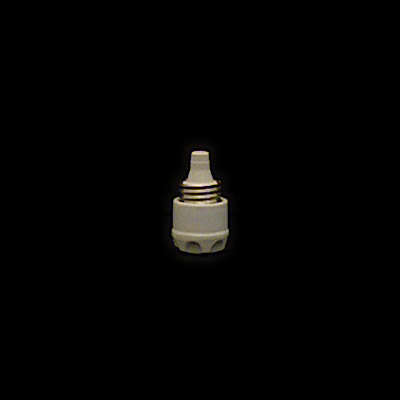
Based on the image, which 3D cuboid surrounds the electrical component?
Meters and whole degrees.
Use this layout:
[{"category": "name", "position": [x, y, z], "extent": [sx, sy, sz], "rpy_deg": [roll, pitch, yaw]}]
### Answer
[{"category": "electrical component", "position": [0.000, 0.000, 0.656], "extent": [0.035, 0.062, 0.035], "rpy_deg": [0, 12, 0]}]
